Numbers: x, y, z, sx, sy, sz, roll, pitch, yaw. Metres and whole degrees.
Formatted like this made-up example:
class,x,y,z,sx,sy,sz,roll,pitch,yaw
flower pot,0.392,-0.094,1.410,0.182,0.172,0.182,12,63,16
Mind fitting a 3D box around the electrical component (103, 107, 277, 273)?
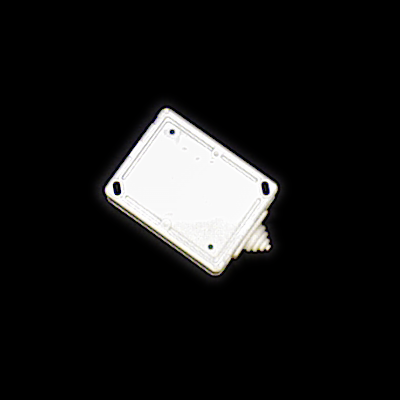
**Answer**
class,x,y,z,sx,sy,sz,roll,pitch,yaw
electrical component,0.000,0.000,0.626,0.096,0.062,0.061,35,-6,4
